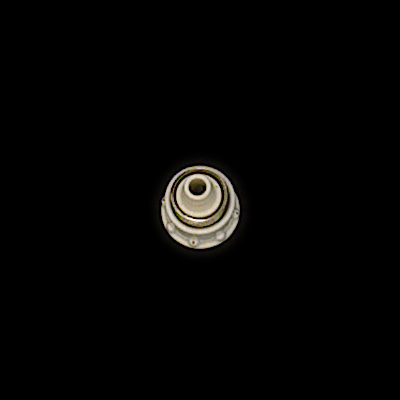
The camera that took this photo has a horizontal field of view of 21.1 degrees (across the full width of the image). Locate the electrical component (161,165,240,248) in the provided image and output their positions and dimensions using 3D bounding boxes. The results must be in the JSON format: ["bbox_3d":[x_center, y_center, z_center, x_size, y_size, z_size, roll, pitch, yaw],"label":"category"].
[{"bbox_3d":[0.000,0.000,0.632,0.048,0.048,0.061,0,-15,1],"label":"electrical component"}]
